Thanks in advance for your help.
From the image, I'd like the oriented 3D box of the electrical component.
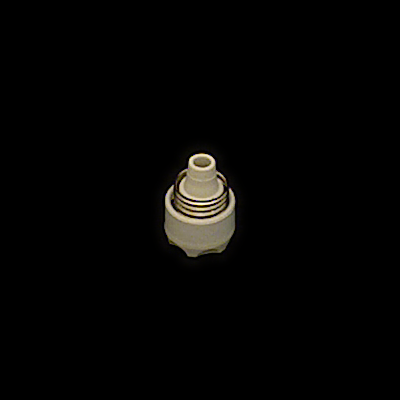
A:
[{"bbox_3d":[0.000,0.000,0.638,0.043,0.062,0.043,1,42,-1],"label":"electrical component"}]
